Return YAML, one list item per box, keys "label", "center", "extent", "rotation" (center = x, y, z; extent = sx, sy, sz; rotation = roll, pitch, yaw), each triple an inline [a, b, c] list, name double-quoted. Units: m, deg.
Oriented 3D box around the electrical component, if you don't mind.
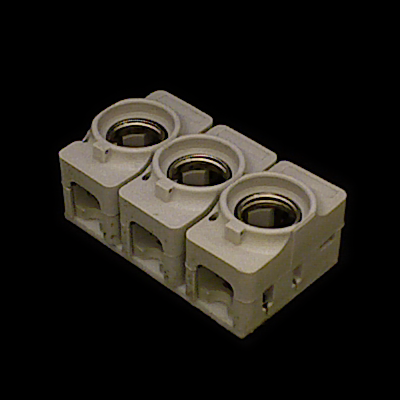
- label: "electrical component"
  center: [0.000, 0.000, 0.635]
  extent: [0.148, 0.063, 0.089]
  rotation: [31, 50, 30]
